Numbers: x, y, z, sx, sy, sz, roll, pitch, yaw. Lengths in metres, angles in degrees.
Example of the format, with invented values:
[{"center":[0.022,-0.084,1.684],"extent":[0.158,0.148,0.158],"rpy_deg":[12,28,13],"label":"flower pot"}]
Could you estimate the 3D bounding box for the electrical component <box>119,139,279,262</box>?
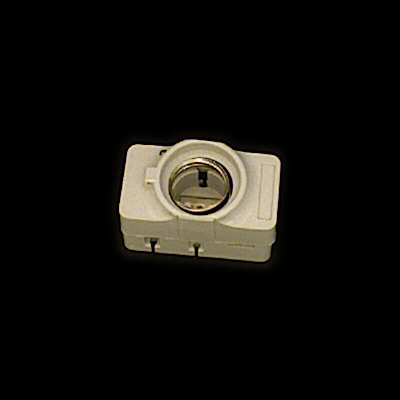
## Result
[{"center":[0.000,0.000,0.636],"extent":[0.089,0.050,0.055],"rpy_deg":[4,-27,2],"label":"electrical component"}]
